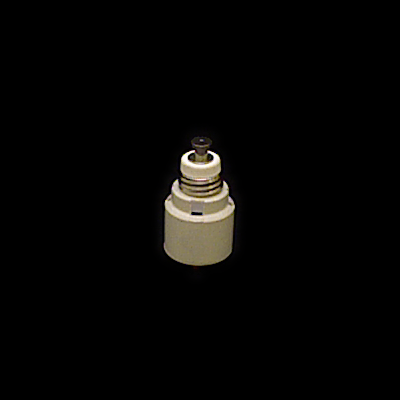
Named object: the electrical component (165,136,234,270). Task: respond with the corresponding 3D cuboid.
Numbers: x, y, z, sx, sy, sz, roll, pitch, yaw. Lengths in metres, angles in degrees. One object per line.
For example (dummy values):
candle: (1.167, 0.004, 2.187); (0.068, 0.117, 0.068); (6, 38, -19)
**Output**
electrical component: (0.000, 0.000, 0.630); (0.040, 0.079, 0.039); (2, 31, -1)
